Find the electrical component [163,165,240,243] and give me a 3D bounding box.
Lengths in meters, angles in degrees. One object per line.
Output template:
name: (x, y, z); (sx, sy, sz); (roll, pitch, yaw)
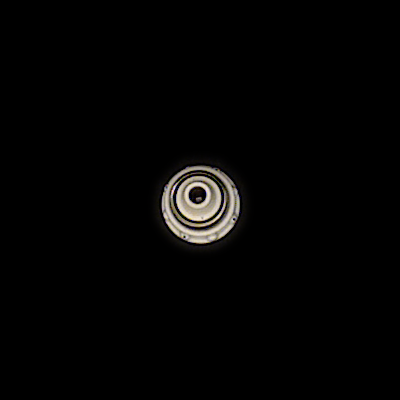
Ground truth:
electrical component: (0.000, 0.000, 0.635); (0.048, 0.048, 0.062); (0, -6, 1)
